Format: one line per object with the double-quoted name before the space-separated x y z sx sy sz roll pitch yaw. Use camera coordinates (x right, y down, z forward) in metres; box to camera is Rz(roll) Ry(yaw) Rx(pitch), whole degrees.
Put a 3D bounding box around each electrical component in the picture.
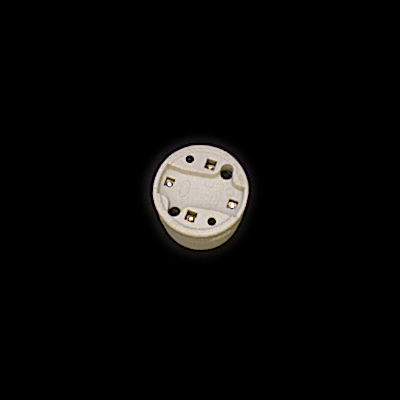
"electrical component" 0.000 0.000 0.635 0.055 0.056 0.047 0 -17 1
